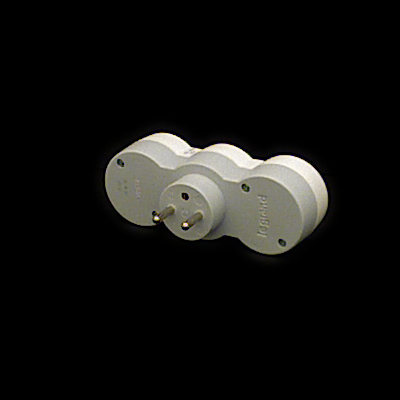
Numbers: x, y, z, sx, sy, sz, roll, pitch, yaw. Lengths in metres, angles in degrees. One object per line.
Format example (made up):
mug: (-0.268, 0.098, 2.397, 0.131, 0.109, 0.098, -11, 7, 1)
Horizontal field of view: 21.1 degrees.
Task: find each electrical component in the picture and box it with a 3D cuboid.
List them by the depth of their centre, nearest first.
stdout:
electrical component: (0.000, 0.000, 0.645, 0.136, 0.053, 0.074, 12, 26, 25)
